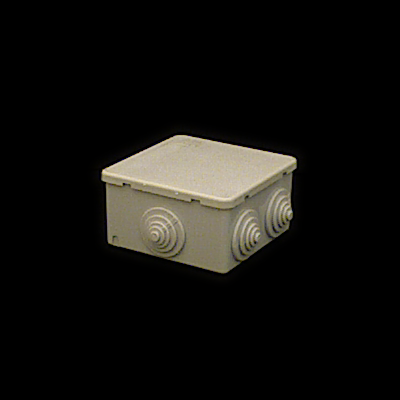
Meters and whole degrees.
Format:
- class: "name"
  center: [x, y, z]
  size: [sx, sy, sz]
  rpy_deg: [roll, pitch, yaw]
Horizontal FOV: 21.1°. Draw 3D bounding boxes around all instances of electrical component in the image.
- class: "electrical component"
  center: [0.000, 0.000, 0.649]
  size: [0.098, 0.049, 0.100]
  rpy_deg: [13, 25, 28]
